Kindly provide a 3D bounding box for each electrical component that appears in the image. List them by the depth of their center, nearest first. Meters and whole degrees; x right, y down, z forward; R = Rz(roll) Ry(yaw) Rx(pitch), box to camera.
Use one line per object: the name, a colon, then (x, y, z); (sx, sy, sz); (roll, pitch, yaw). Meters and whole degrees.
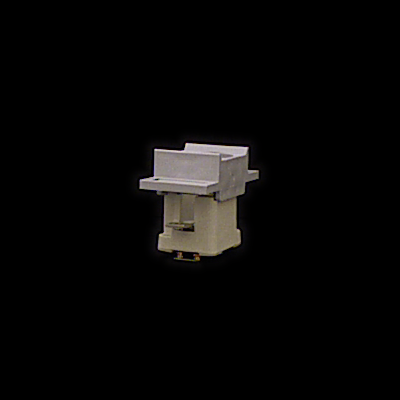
electrical component: (0.000, 0.000, 0.641); (0.042, 0.064, 0.080); (7, 11, 24)
